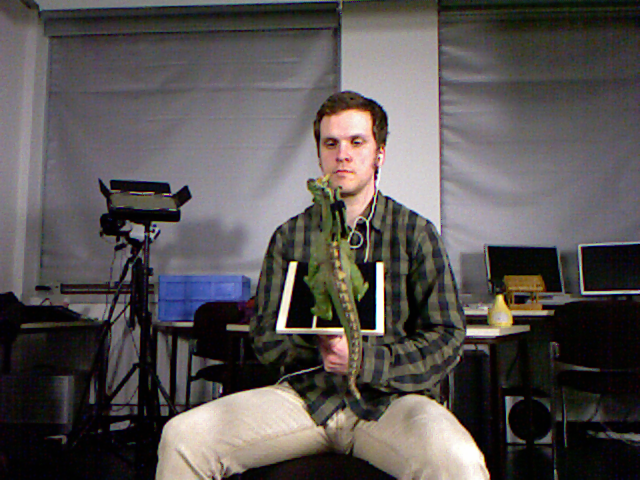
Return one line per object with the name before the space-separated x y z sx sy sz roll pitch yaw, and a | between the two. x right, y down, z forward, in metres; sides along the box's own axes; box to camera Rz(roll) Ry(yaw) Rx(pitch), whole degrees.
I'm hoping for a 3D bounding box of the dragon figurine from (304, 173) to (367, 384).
dragon figurine | 0.029 0.023 0.937 0.123 0.238 0.421 -11 41 -6
